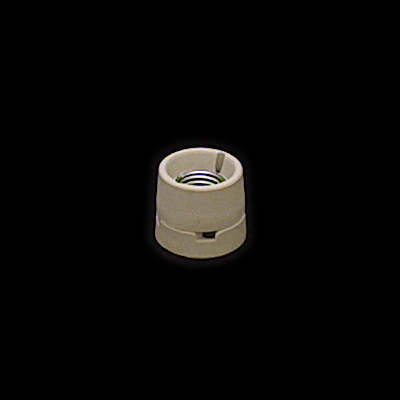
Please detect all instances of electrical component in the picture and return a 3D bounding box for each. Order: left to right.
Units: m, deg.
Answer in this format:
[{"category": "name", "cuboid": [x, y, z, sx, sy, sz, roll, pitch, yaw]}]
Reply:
[{"category": "electrical component", "cuboid": [0.000, 0.000, 0.636, 0.055, 0.047, 0.055, 0, 32, 0]}]
